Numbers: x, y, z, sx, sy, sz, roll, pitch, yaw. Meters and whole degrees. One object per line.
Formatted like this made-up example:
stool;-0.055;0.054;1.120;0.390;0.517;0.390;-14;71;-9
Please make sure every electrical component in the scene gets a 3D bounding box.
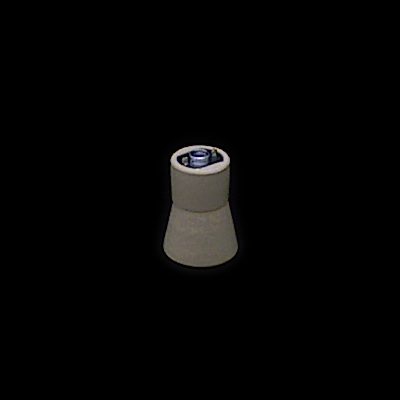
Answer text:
electrical component;0.000;0.000;0.635;0.044;0.066;0.044;0;31;0
